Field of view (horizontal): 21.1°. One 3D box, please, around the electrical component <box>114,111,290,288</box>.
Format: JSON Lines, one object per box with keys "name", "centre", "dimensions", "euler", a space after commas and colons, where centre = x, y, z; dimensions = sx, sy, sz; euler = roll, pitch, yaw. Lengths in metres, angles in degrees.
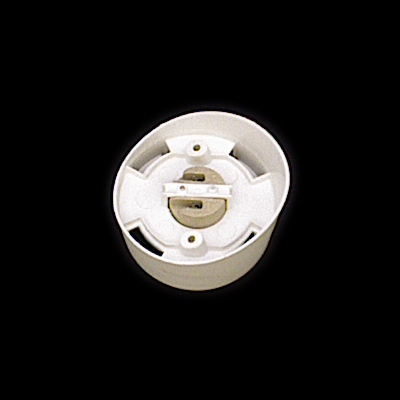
{"name": "electrical component", "centre": [0.000, 0.000, 0.625], "dimensions": [0.099, 0.099, 0.064], "euler": [0, -28, -1]}
